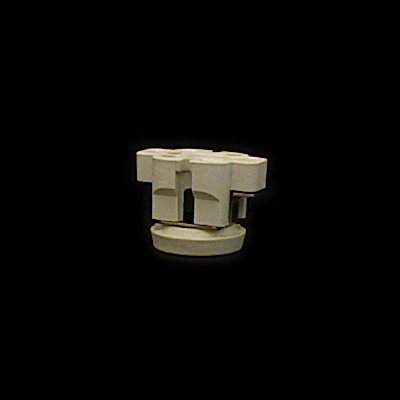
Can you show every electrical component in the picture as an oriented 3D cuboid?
[{"bbox_3d":[0.000,0.000,0.652,0.078,0.057,0.058,7,12,20],"label":"electrical component"}]
